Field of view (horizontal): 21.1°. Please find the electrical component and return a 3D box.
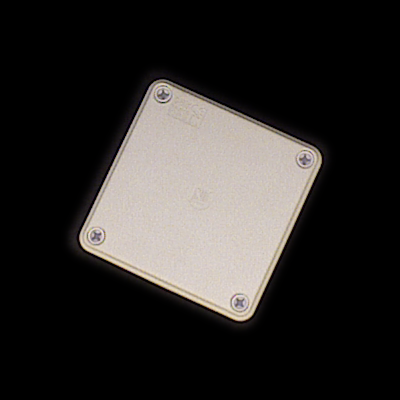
[{"bbox_3d":[0.000,0.000,0.630,0.109,0.109,0.056,25,-5,3],"label":"electrical component"}]
